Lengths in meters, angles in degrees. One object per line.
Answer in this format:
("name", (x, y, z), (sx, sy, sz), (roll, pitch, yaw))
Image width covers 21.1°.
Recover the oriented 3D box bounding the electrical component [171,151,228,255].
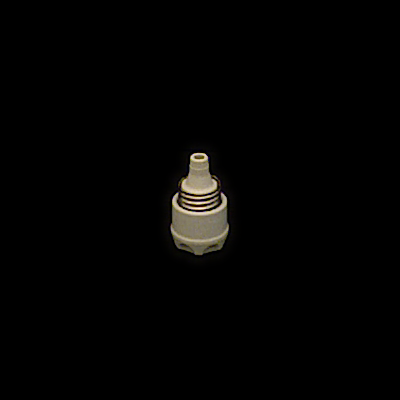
("electrical component", (0.000, 0.000, 0.645), (0.035, 0.062, 0.034), (0, 31, 0))
